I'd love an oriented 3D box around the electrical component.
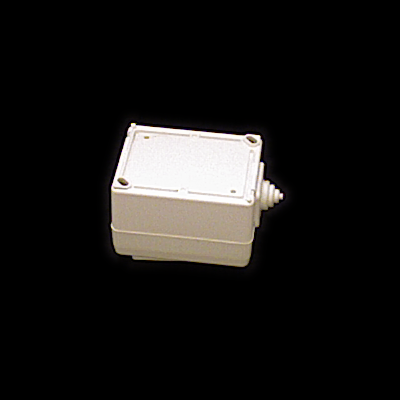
[{"bbox_3d":[0.000,0.000,0.629,0.096,0.061,0.061,6,42,4],"label":"electrical component"}]
